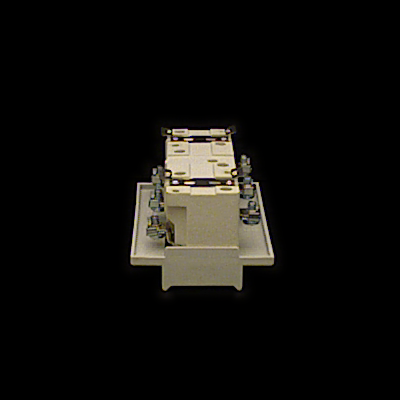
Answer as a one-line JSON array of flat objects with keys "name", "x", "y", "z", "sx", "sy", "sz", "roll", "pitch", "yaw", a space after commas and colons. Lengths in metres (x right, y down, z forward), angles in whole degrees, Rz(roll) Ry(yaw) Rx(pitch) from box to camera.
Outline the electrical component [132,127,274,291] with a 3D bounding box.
[{"name": "electrical component", "x": 0.000, "y": 0.000, "z": 0.644, "sx": 0.079, "sy": 0.064, "sz": 0.119, "roll": 0, "pitch": 21, "yaw": -2}]
